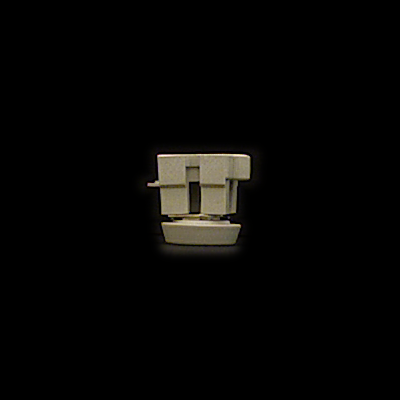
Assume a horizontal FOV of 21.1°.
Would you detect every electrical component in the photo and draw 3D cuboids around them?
[{"bbox_3d":[0.000,0.000,0.657,0.066,0.055,0.048,1,3,13],"label":"electrical component"}]
